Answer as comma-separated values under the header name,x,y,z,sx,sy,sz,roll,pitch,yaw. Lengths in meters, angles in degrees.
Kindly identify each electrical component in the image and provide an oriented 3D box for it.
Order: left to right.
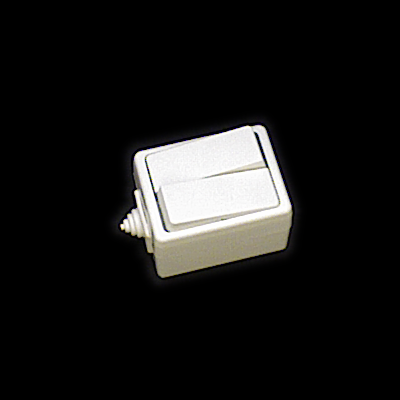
name,x,y,z,sx,sy,sz,roll,pitch,yaw
electrical component,0.000,0.000,0.626,0.096,0.062,0.061,-13,-27,-7
